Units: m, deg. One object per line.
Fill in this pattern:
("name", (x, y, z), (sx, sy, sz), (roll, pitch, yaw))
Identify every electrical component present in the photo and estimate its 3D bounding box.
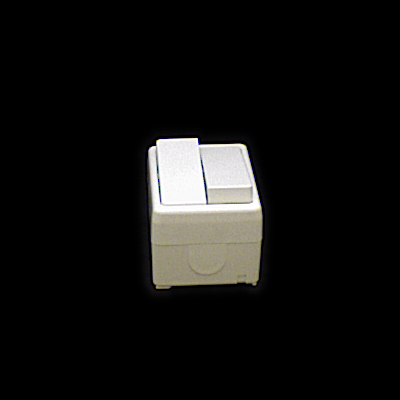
("electrical component", (0.000, 0.000, 0.637), (0.062, 0.061, 0.095), (-1, 31, -4))
